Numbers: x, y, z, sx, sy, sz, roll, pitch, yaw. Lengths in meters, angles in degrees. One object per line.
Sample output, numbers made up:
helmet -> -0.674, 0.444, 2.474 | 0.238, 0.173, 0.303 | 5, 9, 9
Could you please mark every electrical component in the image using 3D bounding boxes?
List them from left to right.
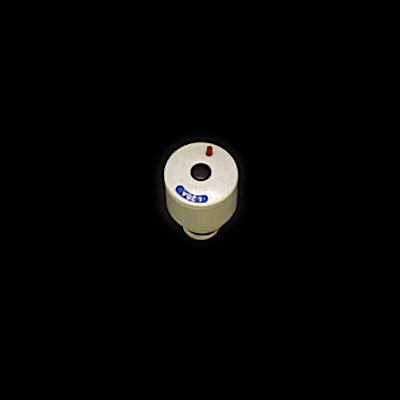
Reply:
electrical component -> 0.000, 0.000, 0.619 | 0.040, 0.040, 0.078 | 0, -28, 0
